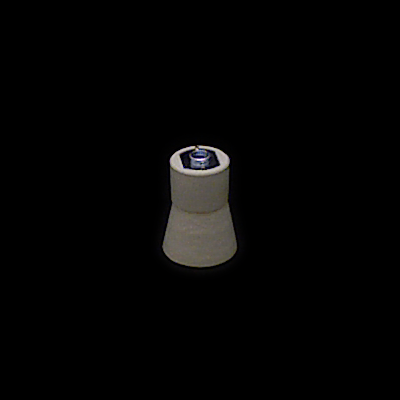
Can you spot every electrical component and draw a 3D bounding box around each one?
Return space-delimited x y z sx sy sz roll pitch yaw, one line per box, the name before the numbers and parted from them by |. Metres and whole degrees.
electrical component | 0.000 0.000 0.633 0.044 0.066 0.044 0 32 0
